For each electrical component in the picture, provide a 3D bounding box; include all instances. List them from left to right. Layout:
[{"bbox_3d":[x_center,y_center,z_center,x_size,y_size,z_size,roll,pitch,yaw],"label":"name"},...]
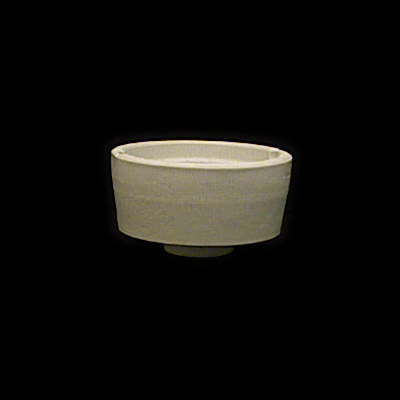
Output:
[{"bbox_3d":[0.000,0.000,0.647,0.108,0.061,0.107,2,11,0],"label":"electrical component"}]
